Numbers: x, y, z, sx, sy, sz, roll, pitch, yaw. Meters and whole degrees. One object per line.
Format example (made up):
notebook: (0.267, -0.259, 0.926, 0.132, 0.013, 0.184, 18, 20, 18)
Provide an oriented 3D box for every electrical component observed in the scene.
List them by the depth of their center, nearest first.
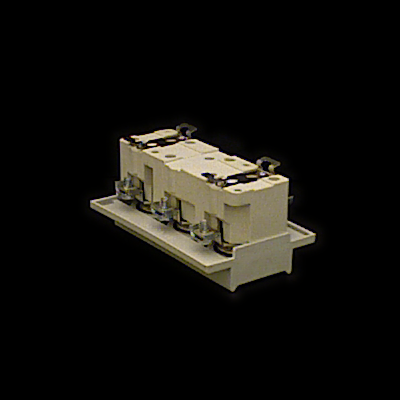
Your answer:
electrical component: (0.000, 0.000, 0.643, 0.079, 0.064, 0.119, -16, 27, -34)
